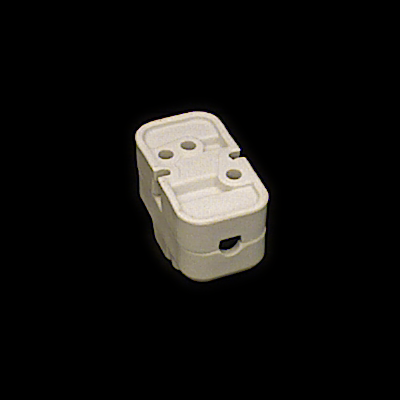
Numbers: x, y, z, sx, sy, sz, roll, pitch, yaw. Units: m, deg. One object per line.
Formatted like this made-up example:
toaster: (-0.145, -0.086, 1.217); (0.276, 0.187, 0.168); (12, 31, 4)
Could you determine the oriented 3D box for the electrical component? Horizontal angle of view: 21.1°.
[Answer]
electrical component: (0.000, 0.000, 0.636); (0.054, 0.060, 0.094); (-15, 46, -16)
